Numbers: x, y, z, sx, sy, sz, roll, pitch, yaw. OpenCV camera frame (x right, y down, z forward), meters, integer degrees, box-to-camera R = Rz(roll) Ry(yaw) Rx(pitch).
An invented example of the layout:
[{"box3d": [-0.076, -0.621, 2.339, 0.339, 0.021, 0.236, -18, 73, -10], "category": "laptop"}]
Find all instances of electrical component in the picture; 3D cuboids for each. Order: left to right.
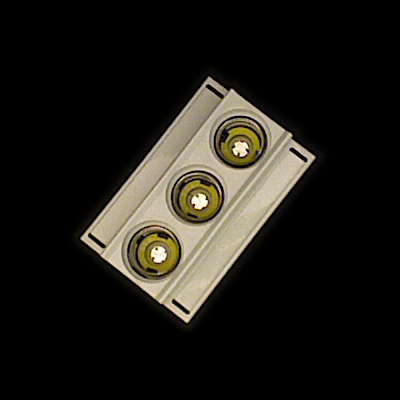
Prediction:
[{"box3d": [0.000, 0.000, 0.637, 0.079, 0.121, 0.063, 38, -4, 5], "category": "electrical component"}]
